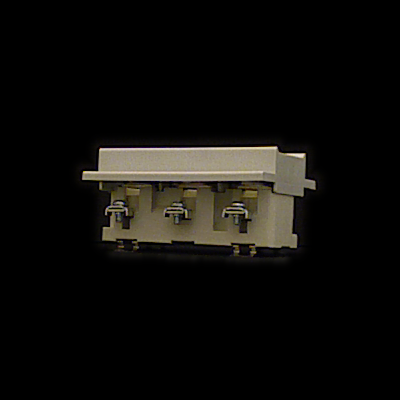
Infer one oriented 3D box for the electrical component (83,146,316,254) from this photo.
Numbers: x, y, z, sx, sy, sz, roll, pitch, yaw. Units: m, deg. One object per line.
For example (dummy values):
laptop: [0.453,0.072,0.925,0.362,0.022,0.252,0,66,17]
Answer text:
electrical component: [0.000,0.000,0.664,0.121,0.063,0.079,1,0,28]
